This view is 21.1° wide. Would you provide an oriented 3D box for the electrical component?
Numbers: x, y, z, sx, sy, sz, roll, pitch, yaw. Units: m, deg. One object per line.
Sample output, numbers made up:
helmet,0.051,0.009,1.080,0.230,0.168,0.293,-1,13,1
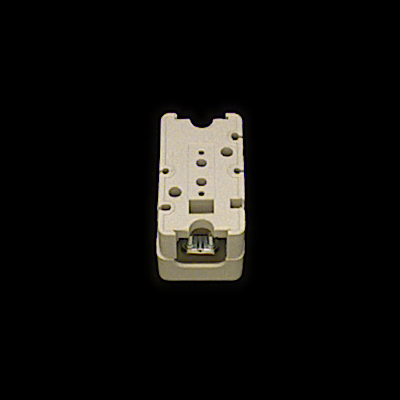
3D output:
electrical component,0.000,0.000,0.637,0.050,0.089,0.056,0,-36,0
